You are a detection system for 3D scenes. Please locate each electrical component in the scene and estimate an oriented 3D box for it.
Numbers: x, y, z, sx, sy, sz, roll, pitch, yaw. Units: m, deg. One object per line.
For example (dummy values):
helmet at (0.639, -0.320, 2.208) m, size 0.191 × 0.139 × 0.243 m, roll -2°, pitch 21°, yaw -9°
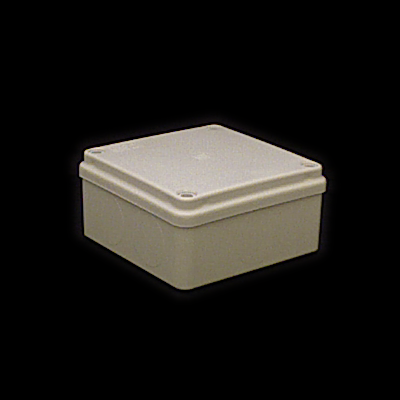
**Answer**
electrical component at (0.000, 0.000, 0.639) m, size 0.108 × 0.057 × 0.107 m, roll -14°, pitch 26°, yaw -35°
